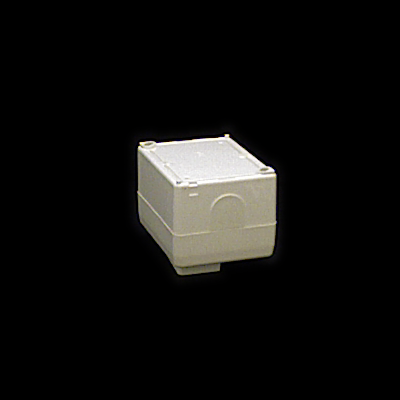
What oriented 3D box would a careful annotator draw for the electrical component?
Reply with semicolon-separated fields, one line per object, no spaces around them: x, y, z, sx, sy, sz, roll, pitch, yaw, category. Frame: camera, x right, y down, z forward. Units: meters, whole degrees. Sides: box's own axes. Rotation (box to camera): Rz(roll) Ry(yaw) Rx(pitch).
0.000;0.000;0.645;0.062;0.062;0.095;-7;22;-18;electrical component
